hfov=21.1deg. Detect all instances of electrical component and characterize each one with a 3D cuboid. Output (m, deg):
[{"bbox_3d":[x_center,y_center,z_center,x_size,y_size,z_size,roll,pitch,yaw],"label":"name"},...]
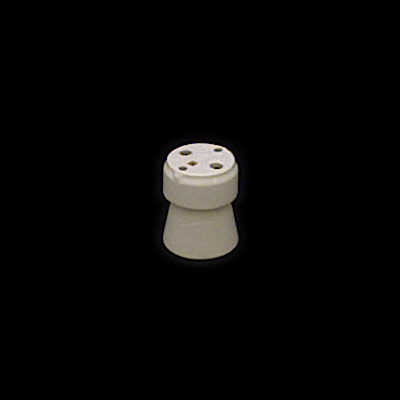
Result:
[{"bbox_3d":[0.000,0.000,0.636,0.045,0.056,0.044,1,31,0],"label":"electrical component"}]
